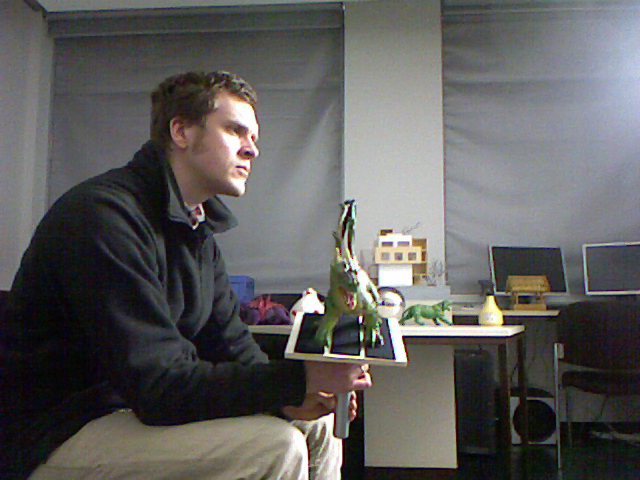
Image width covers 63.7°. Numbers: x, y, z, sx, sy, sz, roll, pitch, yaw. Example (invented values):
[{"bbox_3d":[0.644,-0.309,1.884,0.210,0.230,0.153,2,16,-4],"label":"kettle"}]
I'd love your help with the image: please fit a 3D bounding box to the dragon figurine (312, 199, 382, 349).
[{"bbox_3d":[0.060,0.046,0.931,0.122,0.240,0.417,4,17,4],"label":"dragon figurine"}]
